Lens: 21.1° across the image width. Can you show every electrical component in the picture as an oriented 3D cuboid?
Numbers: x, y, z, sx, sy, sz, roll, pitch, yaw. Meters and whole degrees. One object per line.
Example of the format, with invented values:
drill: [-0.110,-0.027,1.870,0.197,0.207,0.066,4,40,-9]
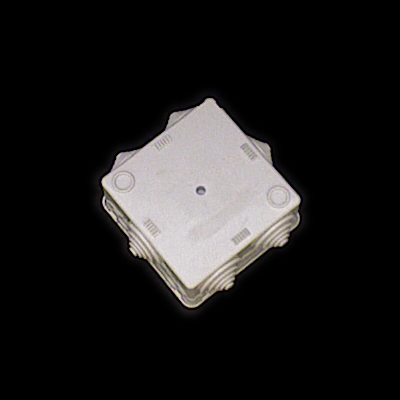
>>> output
electrical component: [0.000,0.000,0.632,0.100,0.100,0.048,-38,-13,-10]
